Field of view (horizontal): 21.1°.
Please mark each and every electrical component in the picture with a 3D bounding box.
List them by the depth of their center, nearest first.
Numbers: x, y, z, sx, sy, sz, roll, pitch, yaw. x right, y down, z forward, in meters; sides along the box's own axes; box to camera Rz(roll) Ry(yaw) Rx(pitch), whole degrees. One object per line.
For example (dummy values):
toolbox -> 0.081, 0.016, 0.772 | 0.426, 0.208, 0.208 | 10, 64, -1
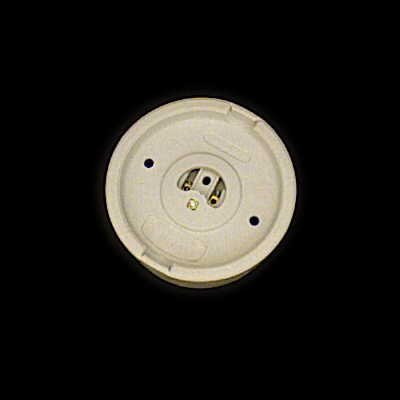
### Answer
electrical component -> 0.000, 0.000, 0.632 | 0.108, 0.108, 0.060 | 0, -17, 0
